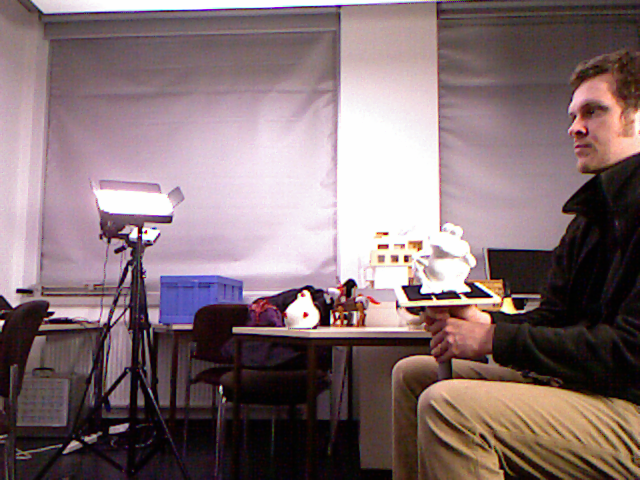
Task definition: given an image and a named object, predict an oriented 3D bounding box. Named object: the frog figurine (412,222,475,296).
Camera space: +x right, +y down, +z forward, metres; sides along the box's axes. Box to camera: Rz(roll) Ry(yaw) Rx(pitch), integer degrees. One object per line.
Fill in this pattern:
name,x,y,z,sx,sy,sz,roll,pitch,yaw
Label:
frog figurine,0.275,0.038,1.158,0.138,0.159,0.124,-1,6,21
